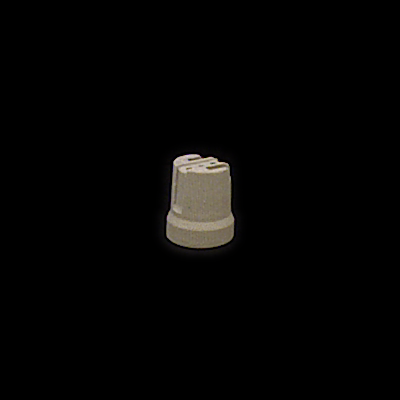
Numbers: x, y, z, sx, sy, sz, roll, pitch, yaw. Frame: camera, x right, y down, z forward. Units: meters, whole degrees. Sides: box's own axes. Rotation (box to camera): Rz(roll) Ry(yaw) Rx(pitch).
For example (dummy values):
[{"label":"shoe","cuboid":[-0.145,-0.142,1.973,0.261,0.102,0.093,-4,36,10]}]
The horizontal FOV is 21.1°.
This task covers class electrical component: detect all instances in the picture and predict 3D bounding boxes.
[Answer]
[{"label":"electrical component","cuboid":[0.000,0.000,0.642,0.040,0.046,0.040,1,22,0]}]
